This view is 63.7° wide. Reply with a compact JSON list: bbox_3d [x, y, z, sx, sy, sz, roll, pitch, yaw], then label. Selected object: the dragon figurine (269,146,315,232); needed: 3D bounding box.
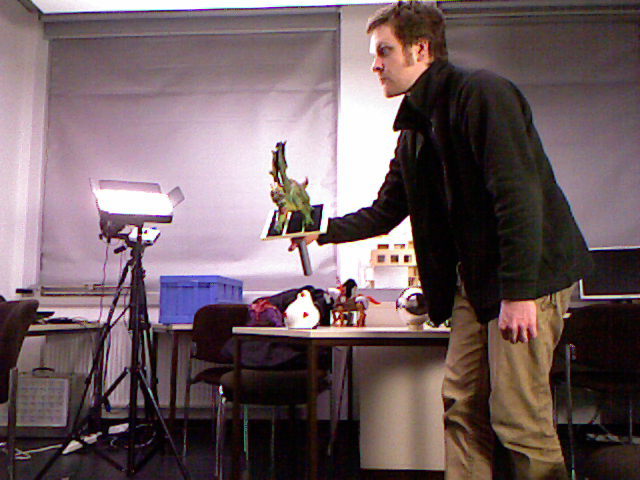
[{"bbox_3d":[-0.096,-0.180,1.598,0.122,0.238,0.420,-7,32,7],"label":"dragon figurine"}]
